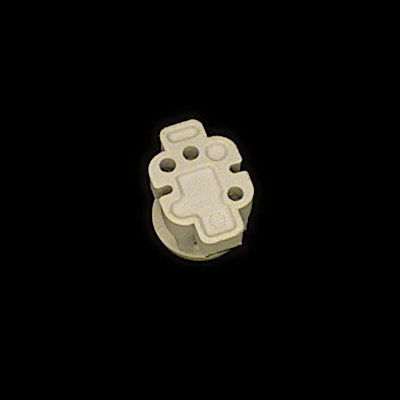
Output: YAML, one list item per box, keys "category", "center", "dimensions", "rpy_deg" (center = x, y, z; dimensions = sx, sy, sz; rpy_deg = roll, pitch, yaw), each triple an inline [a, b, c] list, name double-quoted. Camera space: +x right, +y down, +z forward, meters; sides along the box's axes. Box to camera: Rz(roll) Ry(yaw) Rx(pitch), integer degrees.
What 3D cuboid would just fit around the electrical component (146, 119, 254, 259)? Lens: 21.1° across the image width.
- category: "electrical component"
  center: [0.000, 0.000, 0.635]
  dimensions: [0.058, 0.078, 0.056]
  rpy_deg: [-19, -23, -10]
